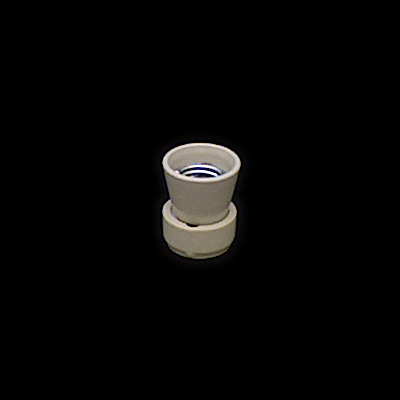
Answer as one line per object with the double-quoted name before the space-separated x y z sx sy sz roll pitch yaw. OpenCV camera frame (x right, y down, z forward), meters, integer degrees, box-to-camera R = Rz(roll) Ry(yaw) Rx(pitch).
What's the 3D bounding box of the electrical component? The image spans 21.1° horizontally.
"electrical component" 0.000 0.000 0.636 0.045 0.056 0.044 1 32 -1
